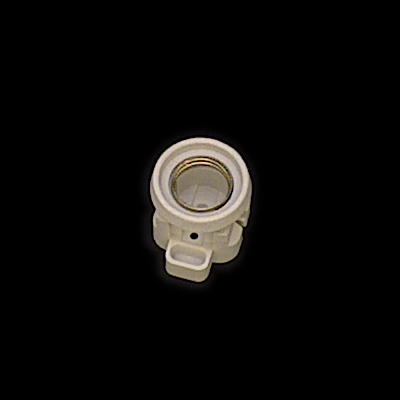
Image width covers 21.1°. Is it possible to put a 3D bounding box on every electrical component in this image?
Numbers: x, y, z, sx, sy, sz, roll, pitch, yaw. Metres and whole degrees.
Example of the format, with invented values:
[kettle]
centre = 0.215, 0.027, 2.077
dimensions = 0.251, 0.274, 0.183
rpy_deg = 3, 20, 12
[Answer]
[electrical component]
centre = 0.000, 0.000, 0.629
dimensions = 0.058, 0.078, 0.057
rpy_deg = 14, -26, 7
